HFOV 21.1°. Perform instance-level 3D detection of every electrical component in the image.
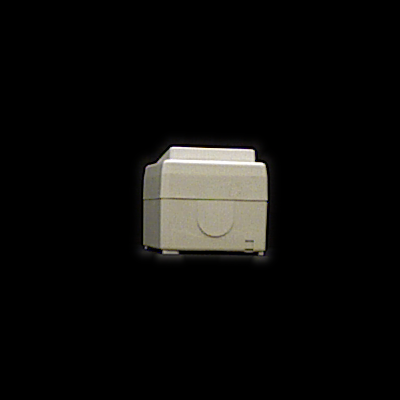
[{"bbox_3d":[0.000,0.000,0.652,0.062,0.061,0.096,1,0,-11],"label":"electrical component"}]
